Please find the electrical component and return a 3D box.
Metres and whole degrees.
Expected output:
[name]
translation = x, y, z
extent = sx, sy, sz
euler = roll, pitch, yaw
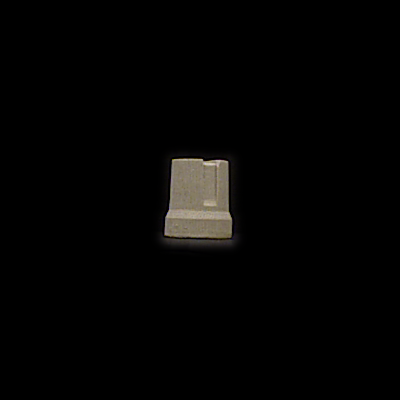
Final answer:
[electrical component]
translation = 0.000, 0.000, 0.651
extent = 0.040, 0.046, 0.040
euler = 2, 1, 0
